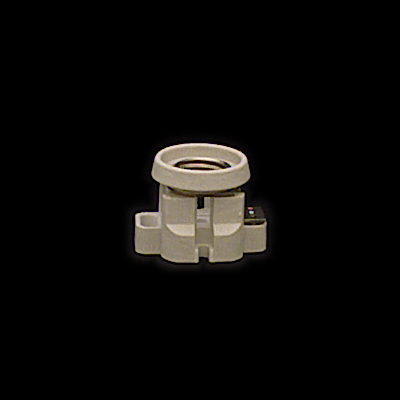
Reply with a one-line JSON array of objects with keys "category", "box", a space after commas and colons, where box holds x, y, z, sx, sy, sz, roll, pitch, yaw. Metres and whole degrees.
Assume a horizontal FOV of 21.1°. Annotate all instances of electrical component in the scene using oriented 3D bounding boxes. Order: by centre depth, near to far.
[{"category": "electrical component", "box": [0.000, 0.000, 0.640, 0.078, 0.057, 0.057, -1, 21, -5]}]
